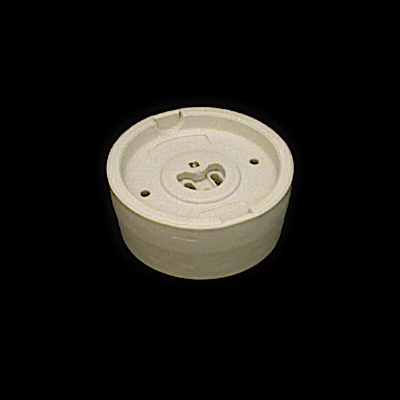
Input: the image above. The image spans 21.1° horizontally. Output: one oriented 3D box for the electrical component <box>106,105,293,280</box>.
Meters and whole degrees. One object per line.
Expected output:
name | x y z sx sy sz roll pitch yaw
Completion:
electrical component | 0.000 0.000 0.639 0.108 0.061 0.106 1 43 0
